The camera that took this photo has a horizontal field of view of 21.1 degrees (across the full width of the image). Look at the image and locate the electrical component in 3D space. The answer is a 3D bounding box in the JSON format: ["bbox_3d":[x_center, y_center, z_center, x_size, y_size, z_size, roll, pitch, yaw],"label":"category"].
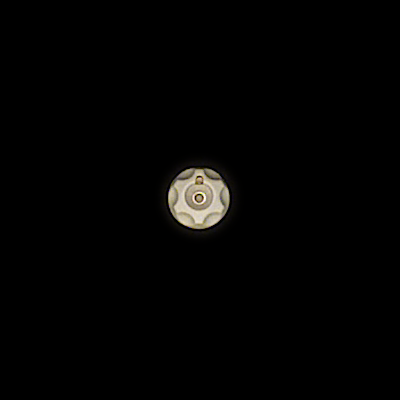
[{"bbox_3d":[0.000,0.000,0.635,0.035,0.035,0.061,0,-6,1],"label":"electrical component"}]
